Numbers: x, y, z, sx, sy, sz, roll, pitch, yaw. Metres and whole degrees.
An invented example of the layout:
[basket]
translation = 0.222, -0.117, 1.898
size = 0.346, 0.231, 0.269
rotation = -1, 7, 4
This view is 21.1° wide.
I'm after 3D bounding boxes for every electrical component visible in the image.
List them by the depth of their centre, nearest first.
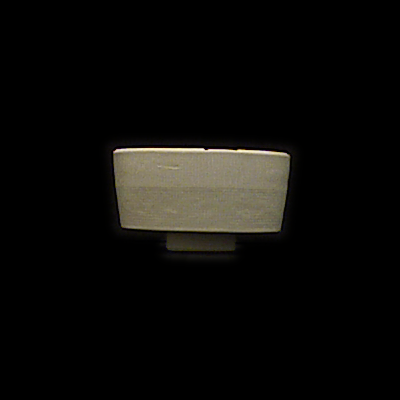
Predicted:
[electrical component]
translation = 0.000, 0.000, 0.659
size = 0.108, 0.060, 0.108
rotation = 1, 1, 1
